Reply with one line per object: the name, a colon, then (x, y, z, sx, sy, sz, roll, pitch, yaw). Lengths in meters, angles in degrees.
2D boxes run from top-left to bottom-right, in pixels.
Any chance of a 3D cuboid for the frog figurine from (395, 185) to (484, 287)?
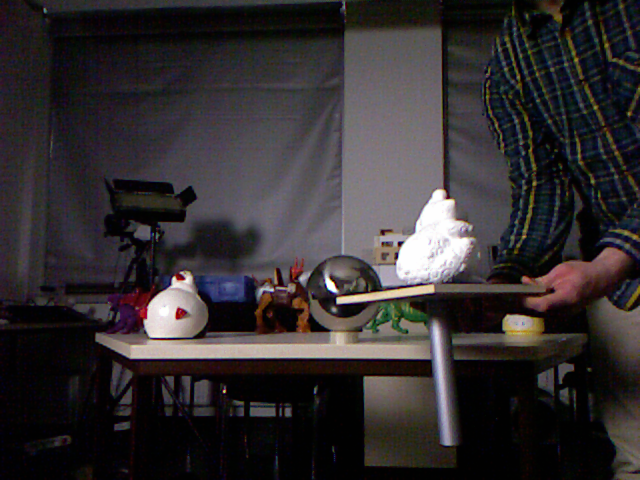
frog figurine: (0.171, -0.005, 0.748, 0.123, 0.161, 0.136, 2, -8, -27)
